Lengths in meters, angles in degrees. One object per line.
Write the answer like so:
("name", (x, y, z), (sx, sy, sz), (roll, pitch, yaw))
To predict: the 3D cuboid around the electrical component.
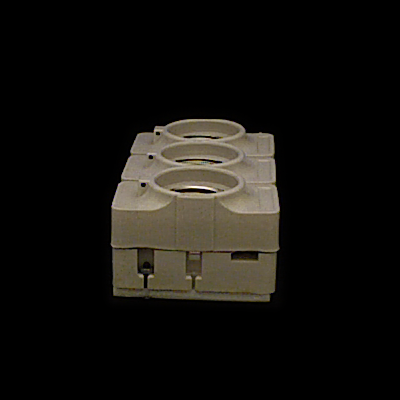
("electrical component", (0.000, 0.000, 0.644), (0.089, 0.063, 0.147), (1, 20, 2))
